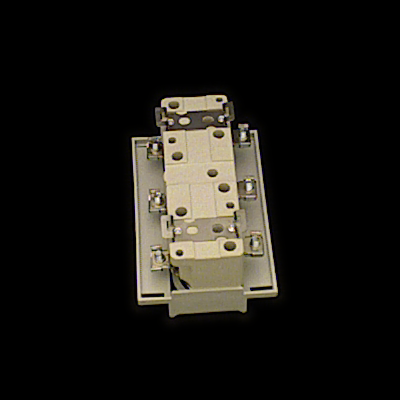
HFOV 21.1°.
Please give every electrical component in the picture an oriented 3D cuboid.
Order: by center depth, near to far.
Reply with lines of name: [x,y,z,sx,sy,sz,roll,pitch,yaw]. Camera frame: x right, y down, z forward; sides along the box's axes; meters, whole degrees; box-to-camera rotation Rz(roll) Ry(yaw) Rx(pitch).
electrical component: [0.000,0.000,0.634,0.079,0.121,0.063,-4,-37,-2]
